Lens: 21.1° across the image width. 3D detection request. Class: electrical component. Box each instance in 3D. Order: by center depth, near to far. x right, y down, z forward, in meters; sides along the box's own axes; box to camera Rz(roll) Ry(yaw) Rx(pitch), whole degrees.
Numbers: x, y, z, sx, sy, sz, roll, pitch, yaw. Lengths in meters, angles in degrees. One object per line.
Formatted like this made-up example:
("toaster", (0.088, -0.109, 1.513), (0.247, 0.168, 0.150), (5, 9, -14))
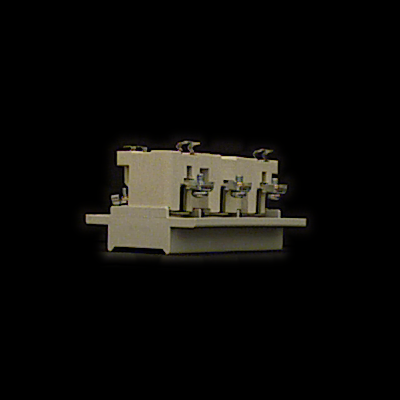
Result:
("electrical component", (0.000, 0.000, 0.658), (0.078, 0.063, 0.123), (1, 0, 35))
